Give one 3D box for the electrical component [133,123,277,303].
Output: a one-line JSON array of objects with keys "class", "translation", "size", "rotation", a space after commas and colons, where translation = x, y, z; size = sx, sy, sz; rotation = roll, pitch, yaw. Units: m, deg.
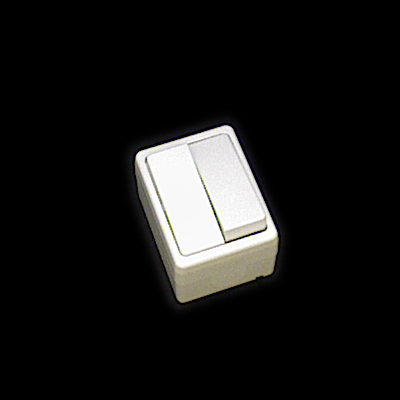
[{"class": "electrical component", "translation": [0.000, 0.000, 0.628], "size": [0.062, 0.096, 0.061], "rotation": [-17, -26, -9]}]
